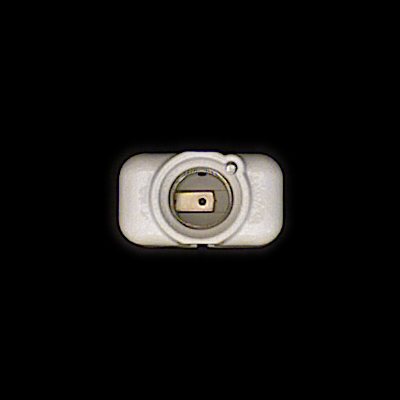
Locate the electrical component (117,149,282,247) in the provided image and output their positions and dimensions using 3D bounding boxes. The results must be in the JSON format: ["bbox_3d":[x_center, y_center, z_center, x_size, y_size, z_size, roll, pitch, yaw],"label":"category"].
[{"bbox_3d":[0.000,0.000,0.635,0.095,0.054,0.059,0,-5,0],"label":"electrical component"}]
